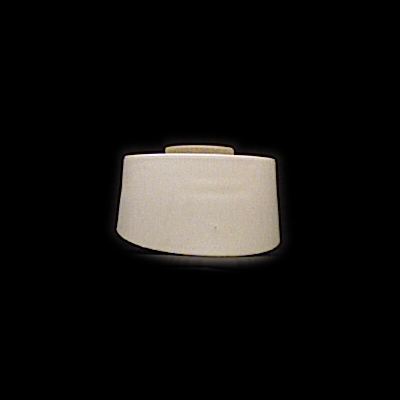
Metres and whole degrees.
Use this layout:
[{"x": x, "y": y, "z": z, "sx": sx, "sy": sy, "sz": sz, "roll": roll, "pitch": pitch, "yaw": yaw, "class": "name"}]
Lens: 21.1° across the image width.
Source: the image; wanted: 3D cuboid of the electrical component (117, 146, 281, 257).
[{"x": 0.000, "y": 0.000, "z": 0.650, "sx": 0.099, "sy": 0.064, "sz": 0.099, "roll": 1, "pitch": 0, "yaw": 0, "class": "electrical component"}]
